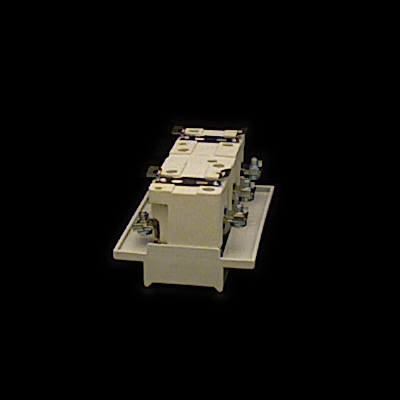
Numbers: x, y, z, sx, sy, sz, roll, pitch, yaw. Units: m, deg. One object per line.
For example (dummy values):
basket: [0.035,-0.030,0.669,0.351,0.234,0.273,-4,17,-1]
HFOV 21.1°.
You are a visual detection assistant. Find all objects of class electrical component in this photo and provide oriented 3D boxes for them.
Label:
electrical component: [0.000,0.000,0.645,0.078,0.064,0.120,3,21,7]
